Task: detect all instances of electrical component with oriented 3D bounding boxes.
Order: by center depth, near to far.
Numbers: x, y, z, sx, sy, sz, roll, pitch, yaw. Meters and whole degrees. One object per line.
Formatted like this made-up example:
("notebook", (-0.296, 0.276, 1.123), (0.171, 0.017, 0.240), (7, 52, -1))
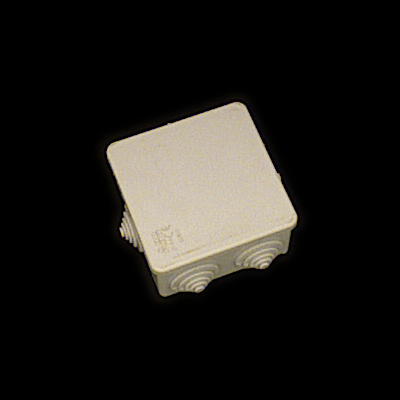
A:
("electrical component", (0.000, 0.000, 0.639), (0.100, 0.099, 0.048), (-19, -25, -9))
